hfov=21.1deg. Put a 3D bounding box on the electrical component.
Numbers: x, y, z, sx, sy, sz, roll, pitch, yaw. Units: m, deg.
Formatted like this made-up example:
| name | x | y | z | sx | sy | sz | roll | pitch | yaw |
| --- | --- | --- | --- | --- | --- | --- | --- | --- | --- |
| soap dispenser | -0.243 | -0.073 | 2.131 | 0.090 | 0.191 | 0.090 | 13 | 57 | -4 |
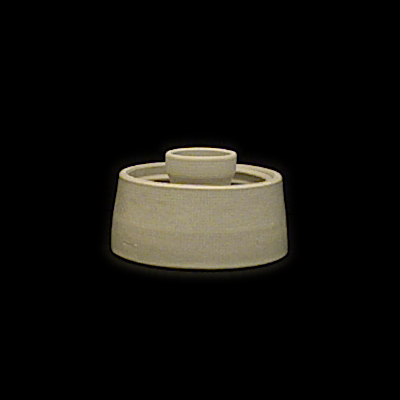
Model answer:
| name | x | y | z | sx | sy | sz | roll | pitch | yaw |
| --- | --- | --- | --- | --- | --- | --- | --- | --- | --- |
| electrical component | 0.000 | 0.000 | 0.652 | 0.108 | 0.061 | 0.107 | 1 | 11 | 0 |
